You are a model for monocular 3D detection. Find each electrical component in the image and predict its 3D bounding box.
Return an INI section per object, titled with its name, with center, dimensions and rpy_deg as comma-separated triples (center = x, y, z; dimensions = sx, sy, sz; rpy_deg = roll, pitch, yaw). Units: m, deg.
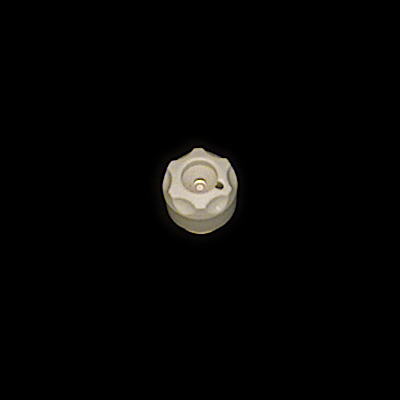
[electrical component]
center = 0.000, 0.000, 0.634
dimensions = 0.043, 0.043, 0.062
rpy_deg = 0, -27, 1
